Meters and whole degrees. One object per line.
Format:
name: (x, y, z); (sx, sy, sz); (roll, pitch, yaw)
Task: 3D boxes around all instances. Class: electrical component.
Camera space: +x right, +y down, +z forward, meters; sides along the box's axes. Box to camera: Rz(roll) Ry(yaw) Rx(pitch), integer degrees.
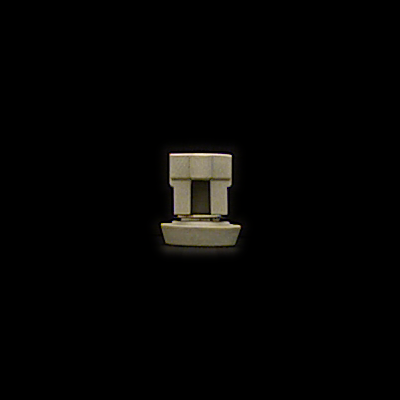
electrical component: (0.000, 0.000, 0.655); (0.048, 0.055, 0.066); (0, 1, -1)
